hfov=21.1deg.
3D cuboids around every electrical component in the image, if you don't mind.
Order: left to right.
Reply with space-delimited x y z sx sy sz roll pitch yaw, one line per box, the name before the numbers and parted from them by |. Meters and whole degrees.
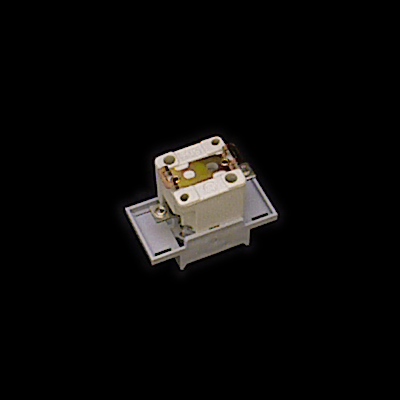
electrical component | 0.000 0.000 0.627 0.081 0.042 0.064 -20 -35 -15
